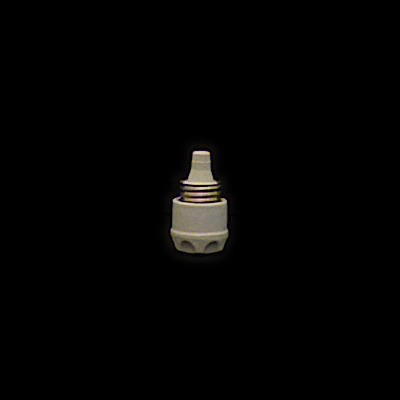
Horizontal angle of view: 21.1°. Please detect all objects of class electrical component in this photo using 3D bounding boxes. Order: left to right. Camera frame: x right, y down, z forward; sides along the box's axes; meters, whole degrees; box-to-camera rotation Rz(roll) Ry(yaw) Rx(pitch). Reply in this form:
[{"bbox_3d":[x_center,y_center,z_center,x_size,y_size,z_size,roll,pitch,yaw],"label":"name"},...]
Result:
[{"bbox_3d":[0.000,0.000,0.656,0.035,0.062,0.035,2,11,0],"label":"electrical component"}]
